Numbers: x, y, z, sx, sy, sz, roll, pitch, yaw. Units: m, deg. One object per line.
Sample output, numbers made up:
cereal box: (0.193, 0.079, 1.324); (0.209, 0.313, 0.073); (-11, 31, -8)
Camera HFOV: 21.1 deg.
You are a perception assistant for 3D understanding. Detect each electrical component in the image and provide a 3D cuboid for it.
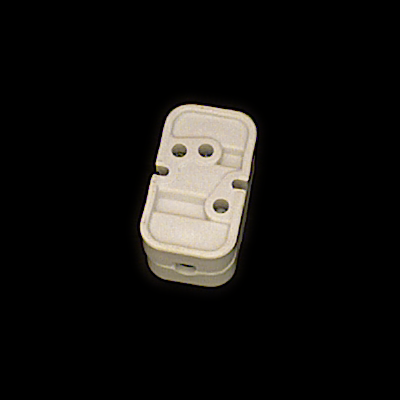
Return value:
electrical component: (0.000, 0.000, 0.634); (0.053, 0.095, 0.059); (10, -26, 5)
